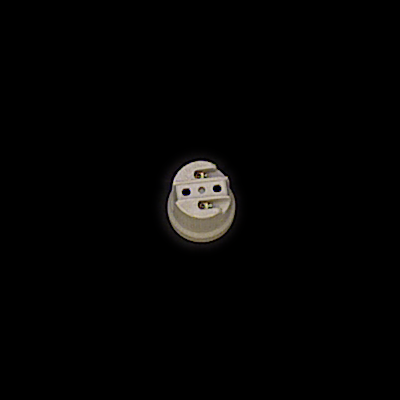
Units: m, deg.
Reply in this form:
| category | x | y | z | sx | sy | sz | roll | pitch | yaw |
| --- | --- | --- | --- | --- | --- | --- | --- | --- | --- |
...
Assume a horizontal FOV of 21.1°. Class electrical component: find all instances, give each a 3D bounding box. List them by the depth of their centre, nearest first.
| category | x | y | z | sx | sy | sz | roll | pitch | yaw |
| --- | --- | --- | --- | --- | --- | --- | --- | --- | --- |
| electrical component | 0.000 | 0.000 | 0.633 | 0.040 | 0.040 | 0.046 | 0 | -16 | 1 |
